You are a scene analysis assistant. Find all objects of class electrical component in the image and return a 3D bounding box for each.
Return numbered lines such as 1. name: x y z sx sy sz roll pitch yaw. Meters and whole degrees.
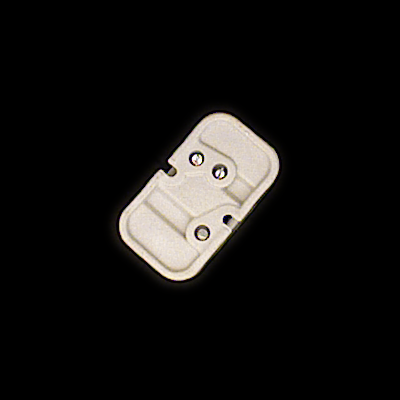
1. electrical component: 0.000 0.000 0.636 0.053 0.095 0.059 40 -4 4
